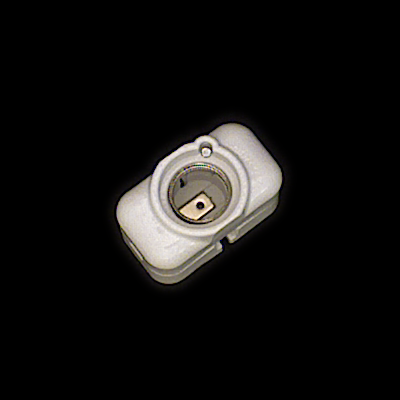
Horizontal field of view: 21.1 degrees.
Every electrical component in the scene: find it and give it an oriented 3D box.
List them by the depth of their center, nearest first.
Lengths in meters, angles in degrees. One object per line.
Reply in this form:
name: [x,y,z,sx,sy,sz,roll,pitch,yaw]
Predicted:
electrical component: [0.000,0.000,0.634,0.095,0.053,0.059,-37,-12,-10]
